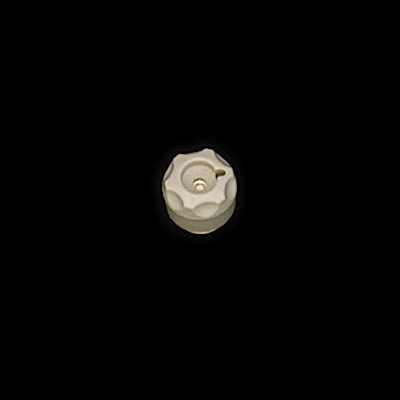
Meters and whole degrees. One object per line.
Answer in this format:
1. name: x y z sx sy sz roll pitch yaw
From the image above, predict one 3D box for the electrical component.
1. electrical component: 0.000 0.000 0.634 0.043 0.043 0.062 0 -26 1
